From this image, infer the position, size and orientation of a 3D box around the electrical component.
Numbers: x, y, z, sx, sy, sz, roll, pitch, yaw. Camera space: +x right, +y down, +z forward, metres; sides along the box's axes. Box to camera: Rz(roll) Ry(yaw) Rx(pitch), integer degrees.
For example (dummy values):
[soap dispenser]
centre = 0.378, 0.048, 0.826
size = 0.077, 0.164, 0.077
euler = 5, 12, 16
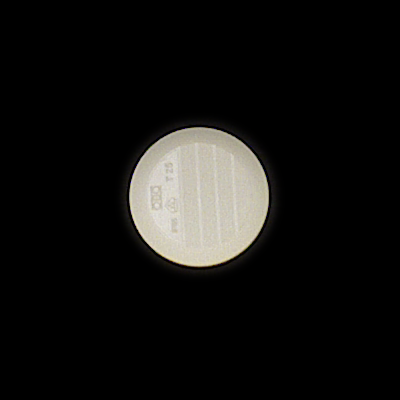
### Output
[electrical component]
centre = 0.000, 0.000, 0.632
size = 0.080, 0.080, 0.050
euler = 0, -7, 0
